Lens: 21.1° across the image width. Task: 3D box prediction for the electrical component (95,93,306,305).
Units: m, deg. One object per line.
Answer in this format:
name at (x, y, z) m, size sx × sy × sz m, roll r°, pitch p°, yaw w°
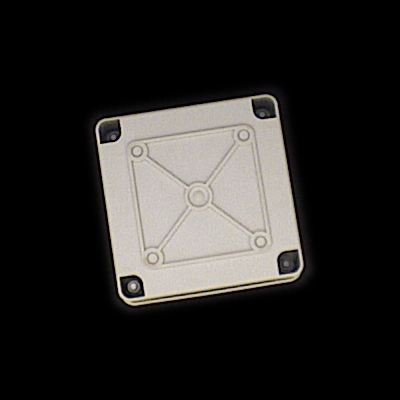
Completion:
electrical component at (0.000, 0.000, 0.628) m, size 0.109 × 0.109 × 0.056 m, roll -9°, pitch -7°, yaw -1°
